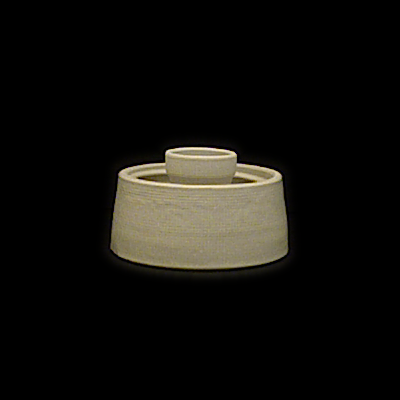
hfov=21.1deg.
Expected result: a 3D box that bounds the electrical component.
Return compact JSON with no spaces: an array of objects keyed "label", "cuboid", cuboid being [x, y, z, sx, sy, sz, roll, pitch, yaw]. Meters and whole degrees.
[{"label":"electrical component","cuboid":[0.000,0.000,0.649,0.108,0.061,0.107,2,11,0]}]
